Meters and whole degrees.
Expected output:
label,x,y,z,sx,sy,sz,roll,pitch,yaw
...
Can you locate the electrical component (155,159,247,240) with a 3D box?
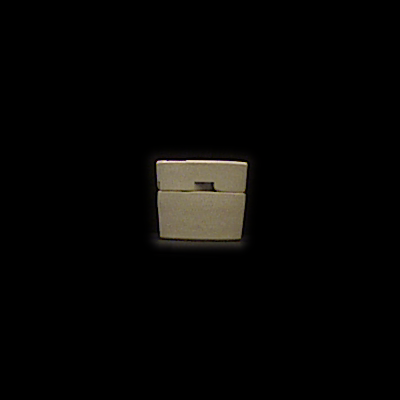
label,x,y,z,sx,sy,sz,roll,pitch,yaw
electrical component,0.000,0.000,0.649,0.055,0.047,0.055,1,0,0
